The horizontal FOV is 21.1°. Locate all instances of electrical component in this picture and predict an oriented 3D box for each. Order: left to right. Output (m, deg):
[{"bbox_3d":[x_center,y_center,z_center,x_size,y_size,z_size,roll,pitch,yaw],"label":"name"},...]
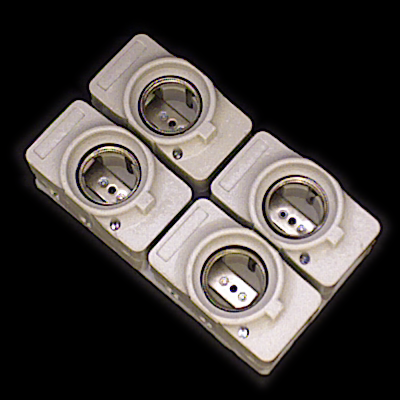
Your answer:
[{"bbox_3d":[0.000,0.000,0.625,0.186,0.106,0.060,39,-13,11],"label":"electrical component"}]
